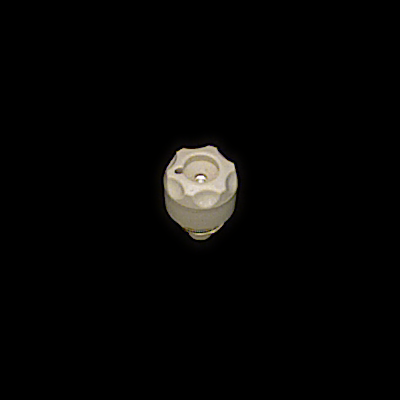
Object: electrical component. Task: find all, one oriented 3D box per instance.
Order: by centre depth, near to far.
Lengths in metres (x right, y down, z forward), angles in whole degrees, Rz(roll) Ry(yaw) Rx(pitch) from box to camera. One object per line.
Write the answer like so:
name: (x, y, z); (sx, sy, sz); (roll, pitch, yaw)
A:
electrical component: (0.000, 0.000, 0.636); (0.043, 0.043, 0.062); (0, -38, -1)
